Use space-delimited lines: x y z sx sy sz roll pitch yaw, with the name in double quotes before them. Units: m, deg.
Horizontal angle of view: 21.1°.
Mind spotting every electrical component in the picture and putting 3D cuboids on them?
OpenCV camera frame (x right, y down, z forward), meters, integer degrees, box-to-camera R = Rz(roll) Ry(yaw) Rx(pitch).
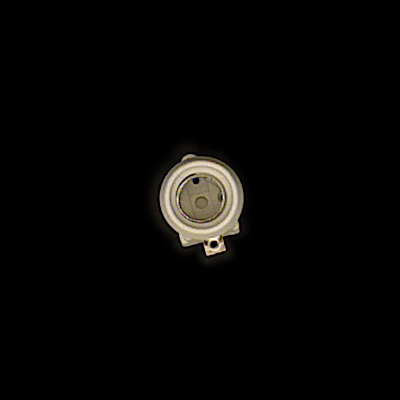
"electrical component" 0.000 0.000 0.639 0.048 0.066 0.055 -17 -6 1
